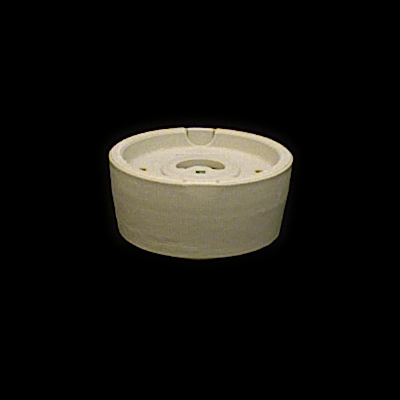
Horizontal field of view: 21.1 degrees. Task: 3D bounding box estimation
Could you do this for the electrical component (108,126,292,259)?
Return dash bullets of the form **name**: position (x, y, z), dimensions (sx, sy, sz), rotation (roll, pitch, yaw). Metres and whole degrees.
- **electrical component**: position (0.000, 0.000, 0.643), dimensions (0.108, 0.061, 0.106), rotation (1, 21, 0)
